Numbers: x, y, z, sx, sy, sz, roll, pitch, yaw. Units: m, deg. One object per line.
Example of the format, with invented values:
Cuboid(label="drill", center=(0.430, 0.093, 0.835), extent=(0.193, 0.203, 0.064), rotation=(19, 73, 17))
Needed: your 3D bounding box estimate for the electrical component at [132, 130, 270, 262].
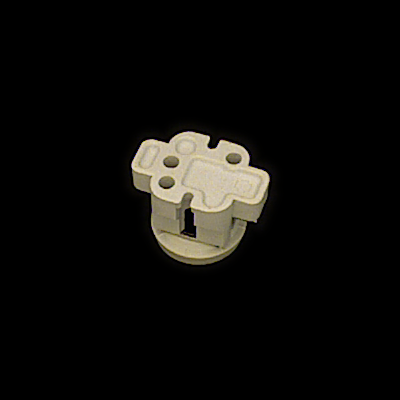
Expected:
Cuboid(label="electrical component", center=(0.000, 0.000, 0.637), extent=(0.078, 0.058, 0.057), rotation=(16, -36, 9))
